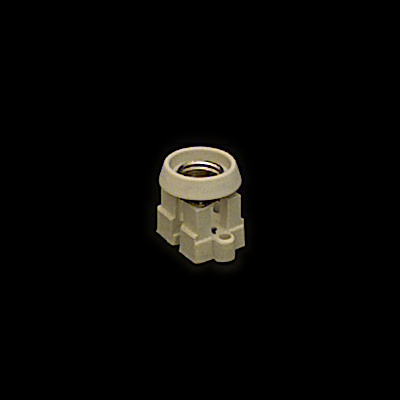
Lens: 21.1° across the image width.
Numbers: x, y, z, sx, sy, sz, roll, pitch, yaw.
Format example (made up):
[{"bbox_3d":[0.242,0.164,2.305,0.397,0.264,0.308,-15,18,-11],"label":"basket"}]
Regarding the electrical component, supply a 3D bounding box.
[{"bbox_3d":[0.000,0.000,0.643,0.049,0.056,0.065,-19,38,-32],"label":"electrical component"}]
